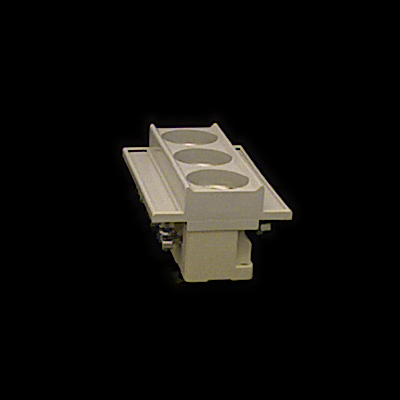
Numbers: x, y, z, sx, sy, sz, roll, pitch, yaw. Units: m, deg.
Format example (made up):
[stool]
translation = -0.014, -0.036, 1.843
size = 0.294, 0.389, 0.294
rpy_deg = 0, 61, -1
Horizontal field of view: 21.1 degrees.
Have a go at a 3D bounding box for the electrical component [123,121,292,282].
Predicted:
[electrical component]
translation = 0.000, 0.000, 0.653
size = 0.079, 0.064, 0.119
rpy_deg = -2, 21, -12
